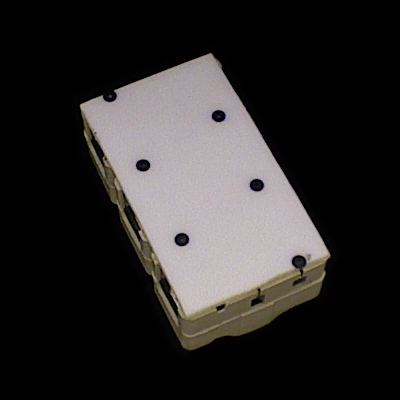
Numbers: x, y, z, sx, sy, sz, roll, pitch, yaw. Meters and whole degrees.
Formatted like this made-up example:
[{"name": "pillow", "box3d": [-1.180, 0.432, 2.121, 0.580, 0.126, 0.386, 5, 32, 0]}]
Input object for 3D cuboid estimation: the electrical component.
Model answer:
[{"name": "electrical component", "box3d": [0.000, 0.000, 0.632, 0.090, 0.149, 0.062, -22, -25, -11]}]
